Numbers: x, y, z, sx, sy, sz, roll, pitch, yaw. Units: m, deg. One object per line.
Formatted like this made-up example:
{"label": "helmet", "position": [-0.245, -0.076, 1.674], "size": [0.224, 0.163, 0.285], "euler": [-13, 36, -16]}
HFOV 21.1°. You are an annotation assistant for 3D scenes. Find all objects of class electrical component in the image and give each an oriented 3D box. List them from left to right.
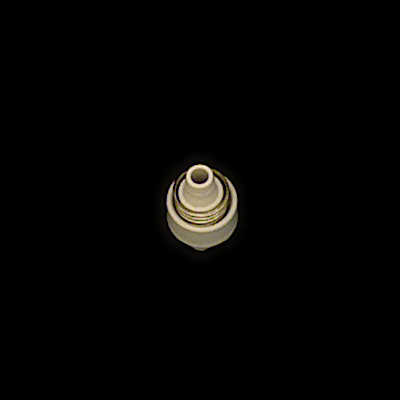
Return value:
{"label": "electrical component", "position": [0.000, 0.000, 0.634], "size": [0.043, 0.043, 0.062], "euler": [0, -27, 2]}
